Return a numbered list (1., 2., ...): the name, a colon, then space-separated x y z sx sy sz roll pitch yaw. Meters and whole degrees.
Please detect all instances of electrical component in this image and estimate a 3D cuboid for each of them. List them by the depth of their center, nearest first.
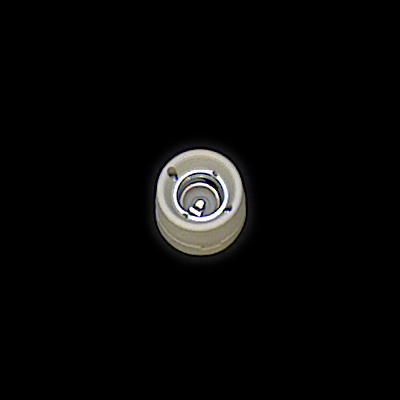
1. electrical component: 0.000 0.000 0.633 0.055 0.056 0.047 0 -18 1
